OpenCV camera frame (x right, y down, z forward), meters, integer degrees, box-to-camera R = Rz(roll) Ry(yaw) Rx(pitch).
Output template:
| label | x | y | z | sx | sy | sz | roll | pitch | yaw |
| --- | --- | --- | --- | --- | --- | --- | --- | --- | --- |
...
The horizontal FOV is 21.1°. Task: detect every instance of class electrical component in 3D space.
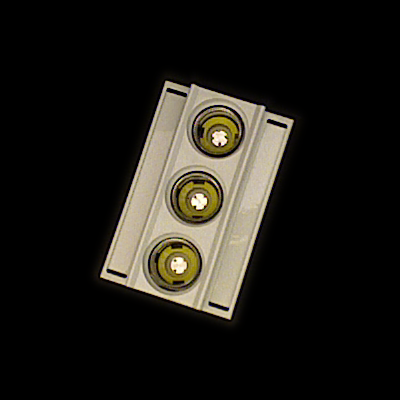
| label | x | y | z | sx | sy | sz | roll | pitch | yaw |
| --- | --- | --- | --- | --- | --- | --- | --- | --- | --- |
| electrical component | 0.000 | 0.000 | 0.637 | 0.079 | 0.121 | 0.063 | 18 | -5 | 4 |
